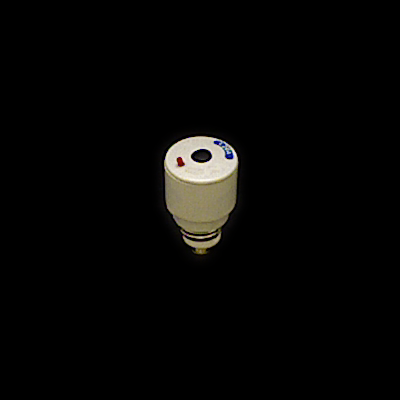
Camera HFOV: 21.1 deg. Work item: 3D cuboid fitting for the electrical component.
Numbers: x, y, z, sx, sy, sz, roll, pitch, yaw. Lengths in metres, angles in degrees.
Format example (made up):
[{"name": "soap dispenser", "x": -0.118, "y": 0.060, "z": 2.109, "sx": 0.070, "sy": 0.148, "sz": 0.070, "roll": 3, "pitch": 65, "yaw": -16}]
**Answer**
[{"name": "electrical component", "x": 0.000, "y": 0.000, "z": 0.624, "sx": 0.040, "sy": 0.079, "sz": 0.039, "roll": 0, "pitch": 42, "yaw": 0}]
